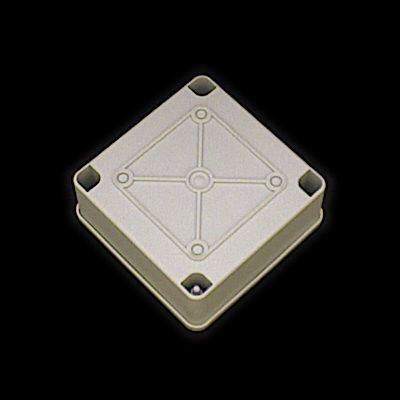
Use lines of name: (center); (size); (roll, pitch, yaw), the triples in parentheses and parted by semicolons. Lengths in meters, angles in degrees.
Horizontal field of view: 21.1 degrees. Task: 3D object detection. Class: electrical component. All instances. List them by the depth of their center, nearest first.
electrical component: (0.000, 0.000, 0.626); (0.109, 0.108, 0.056); (-41, -20, -18)
